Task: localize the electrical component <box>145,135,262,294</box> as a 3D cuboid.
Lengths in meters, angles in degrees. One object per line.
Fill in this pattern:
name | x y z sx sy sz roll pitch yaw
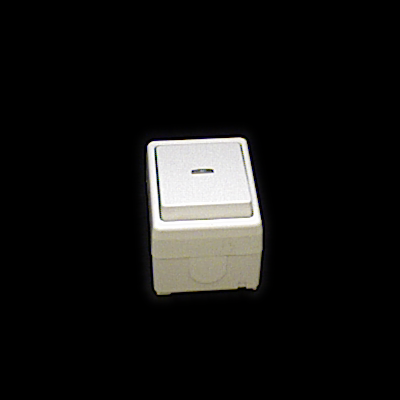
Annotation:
electrical component | 0.000 0.000 0.632 0.062 0.061 0.095 -3 42 -4
